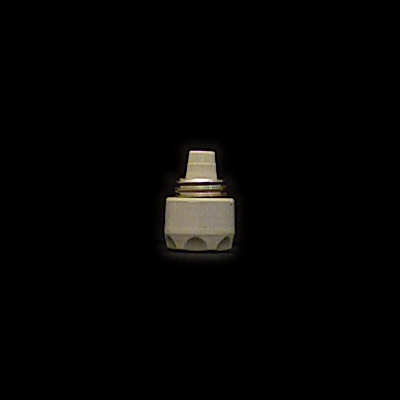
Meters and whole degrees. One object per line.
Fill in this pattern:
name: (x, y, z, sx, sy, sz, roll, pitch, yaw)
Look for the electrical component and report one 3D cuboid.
electrical component: (0.000, 0.000, 0.655, 0.043, 0.062, 0.043, 1, 3, 0)
